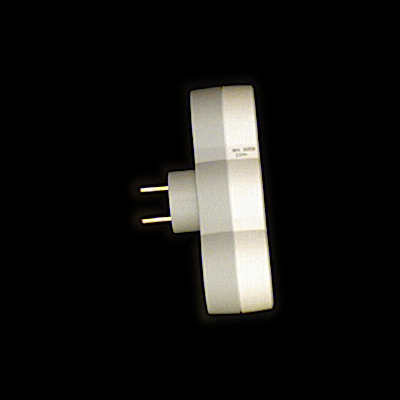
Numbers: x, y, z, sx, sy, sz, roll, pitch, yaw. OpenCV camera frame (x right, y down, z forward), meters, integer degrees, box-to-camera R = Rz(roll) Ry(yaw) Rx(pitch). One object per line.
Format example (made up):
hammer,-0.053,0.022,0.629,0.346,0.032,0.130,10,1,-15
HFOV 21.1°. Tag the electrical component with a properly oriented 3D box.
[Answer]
electrical component,0.000,0.000,0.638,0.074,0.138,0.052,-4,-16,1
